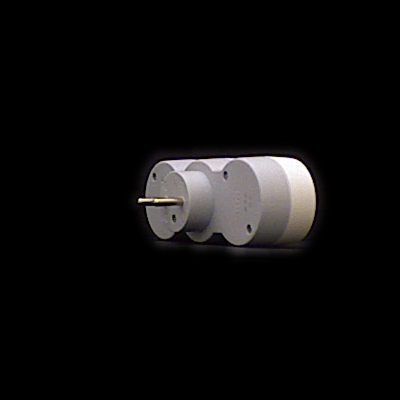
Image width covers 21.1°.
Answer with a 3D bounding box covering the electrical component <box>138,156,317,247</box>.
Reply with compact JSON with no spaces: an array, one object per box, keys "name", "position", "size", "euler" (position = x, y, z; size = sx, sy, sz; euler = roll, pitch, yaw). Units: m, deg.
[{"name":"electrical component","position":[0.000,0.000,0.647],"size":[0.074,0.052,0.138],"euler":[-1,2,-31]}]
